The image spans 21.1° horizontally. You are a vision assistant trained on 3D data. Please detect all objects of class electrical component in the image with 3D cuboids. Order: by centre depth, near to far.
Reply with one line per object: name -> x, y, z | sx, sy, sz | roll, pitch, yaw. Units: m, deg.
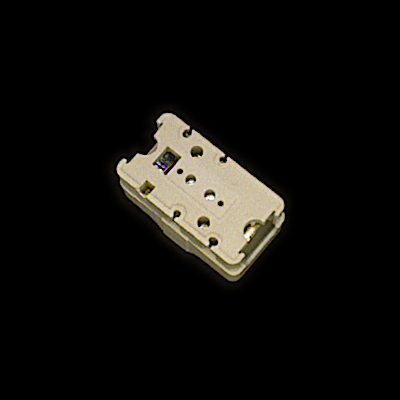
electrical component -> 0.000, 0.000, 0.636 | 0.089, 0.050, 0.055 | 38, -11, 11
